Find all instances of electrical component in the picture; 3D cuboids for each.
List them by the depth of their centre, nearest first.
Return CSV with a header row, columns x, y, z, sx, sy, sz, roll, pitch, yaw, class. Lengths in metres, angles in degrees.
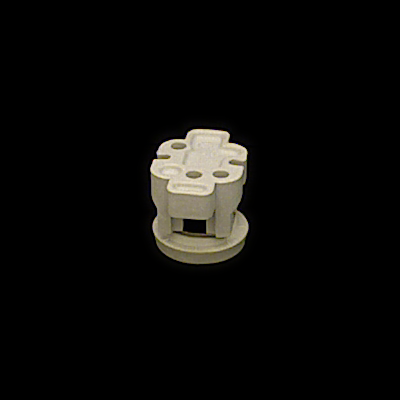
x,y,z,sx,sy,sz,roll,pitch,yaw,class
0.000,0.000,0.644,0.058,0.057,0.078,4,31,7,electrical component
